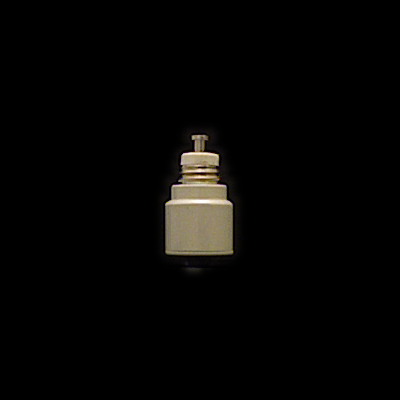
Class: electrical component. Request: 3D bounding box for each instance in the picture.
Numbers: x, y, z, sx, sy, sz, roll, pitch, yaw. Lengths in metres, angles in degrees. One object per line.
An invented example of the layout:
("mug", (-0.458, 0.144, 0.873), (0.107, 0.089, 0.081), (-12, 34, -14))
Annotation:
("electrical component", (0.000, 0.000, 0.650), (0.040, 0.078, 0.040), (0, 2, 0))
